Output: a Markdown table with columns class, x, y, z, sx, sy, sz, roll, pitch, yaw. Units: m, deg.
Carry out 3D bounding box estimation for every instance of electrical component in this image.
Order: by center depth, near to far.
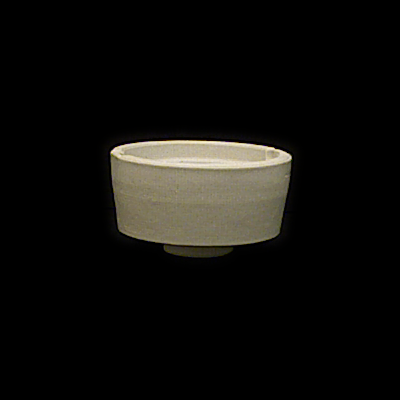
| class | x | y | z | sx | sy | sz | roll | pitch | yaw |
| --- | --- | --- | --- | --- | --- | --- | --- | --- | --- |
| electrical component | 0.000 | 0.000 | 0.647 | 0.108 | 0.061 | 0.107 | 2 | 11 | 0 |
